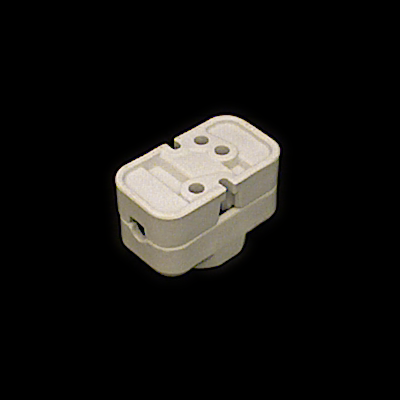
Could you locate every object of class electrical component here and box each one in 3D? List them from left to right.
[{"bbox_3d":[0.000,0.000,0.638,0.095,0.060,0.053,-31,51,-30],"label":"electrical component"}]
